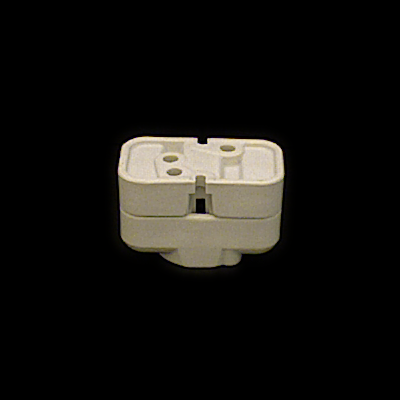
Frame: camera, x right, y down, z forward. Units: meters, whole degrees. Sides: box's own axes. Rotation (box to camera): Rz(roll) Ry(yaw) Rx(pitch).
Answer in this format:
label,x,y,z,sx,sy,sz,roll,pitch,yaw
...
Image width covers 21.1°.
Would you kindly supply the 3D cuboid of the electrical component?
label,x,y,z,sx,sy,sz,roll,pitch,yaw
electrical component,0.000,0.000,0.639,0.095,0.060,0.053,1,32,0
